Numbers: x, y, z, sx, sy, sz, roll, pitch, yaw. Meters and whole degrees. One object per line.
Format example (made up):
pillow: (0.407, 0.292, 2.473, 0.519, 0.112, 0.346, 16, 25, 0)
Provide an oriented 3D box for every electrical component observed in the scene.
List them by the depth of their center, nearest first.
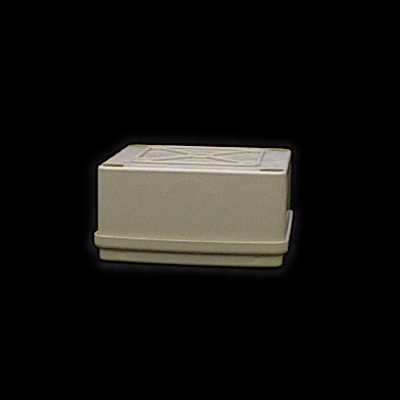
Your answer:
electrical component: (0.000, 0.000, 0.641, 0.108, 0.056, 0.108, 2, 10, 6)
